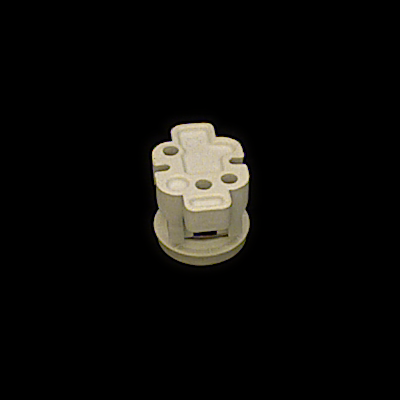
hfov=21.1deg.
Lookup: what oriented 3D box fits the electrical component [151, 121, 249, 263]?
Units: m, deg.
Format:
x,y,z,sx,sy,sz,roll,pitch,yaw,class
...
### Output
x,y,z,sx,sy,sz,roll,pitch,yaw,class
0.000,0.000,0.640,0.058,0.057,0.077,-6,42,-6,electrical component
